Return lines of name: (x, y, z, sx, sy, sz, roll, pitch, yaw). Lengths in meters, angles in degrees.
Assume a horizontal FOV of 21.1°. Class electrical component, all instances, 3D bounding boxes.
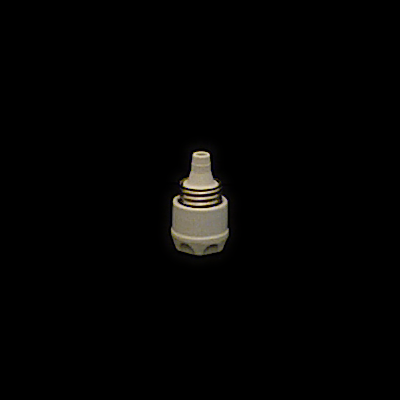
electrical component: (0.000, 0.000, 0.651, 0.035, 0.062, 0.034, 2, 21, 0)
